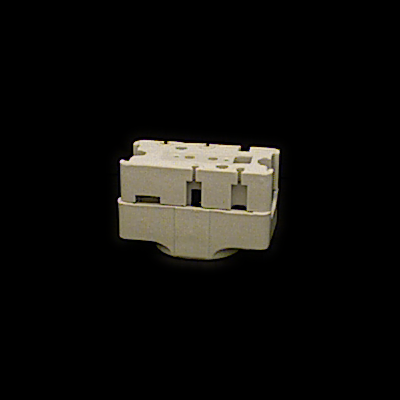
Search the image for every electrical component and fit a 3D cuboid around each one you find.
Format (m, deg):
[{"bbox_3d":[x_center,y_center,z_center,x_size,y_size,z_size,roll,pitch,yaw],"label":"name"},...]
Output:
[{"bbox_3d":[0.000,0.000,0.647,0.089,0.056,0.050,5,22,8],"label":"electrical component"}]
